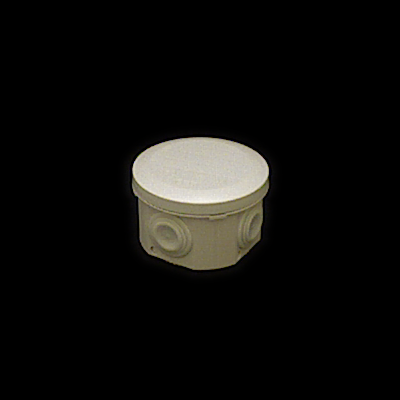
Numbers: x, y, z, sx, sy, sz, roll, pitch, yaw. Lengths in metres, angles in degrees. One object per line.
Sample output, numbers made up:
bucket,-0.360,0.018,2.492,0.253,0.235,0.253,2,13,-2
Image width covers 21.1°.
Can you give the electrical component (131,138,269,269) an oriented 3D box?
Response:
electrical component,0.000,0.000,0.637,0.080,0.051,0.079,1,31,0
